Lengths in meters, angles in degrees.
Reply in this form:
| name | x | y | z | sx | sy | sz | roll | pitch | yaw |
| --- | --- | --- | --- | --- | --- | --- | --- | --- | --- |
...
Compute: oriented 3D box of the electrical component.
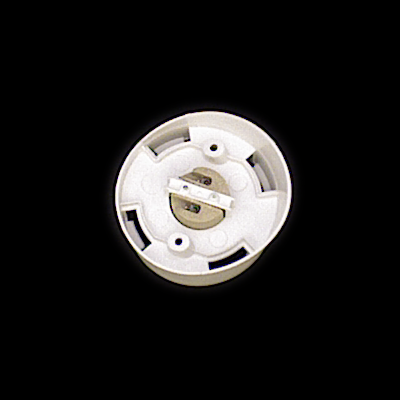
| name | x | y | z | sx | sy | sz | roll | pitch | yaw |
| --- | --- | --- | --- | --- | --- | --- | --- | --- | --- |
| electrical component | 0.000 | 0.000 | 0.624 | 0.099 | 0.099 | 0.064 | 0 | -17 | -1 |
